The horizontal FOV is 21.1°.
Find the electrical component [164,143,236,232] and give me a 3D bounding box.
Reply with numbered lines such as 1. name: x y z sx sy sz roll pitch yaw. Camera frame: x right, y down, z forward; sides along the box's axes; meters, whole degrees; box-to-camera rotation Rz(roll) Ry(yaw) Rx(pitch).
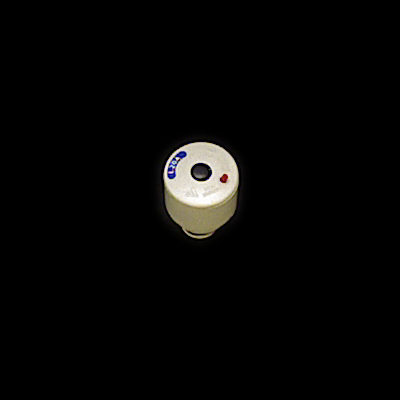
1. electrical component: 0.000 0.000 0.617 0.040 0.040 0.078 0 -27 -1
